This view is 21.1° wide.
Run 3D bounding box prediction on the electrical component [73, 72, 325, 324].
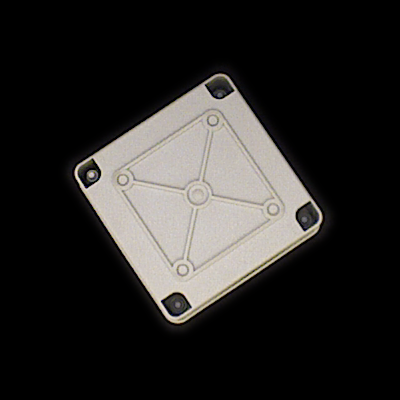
[{"bbox_3d":[0.000,0.000,0.628,0.109,0.109,0.056,-34,-6,-4],"label":"electrical component"}]
